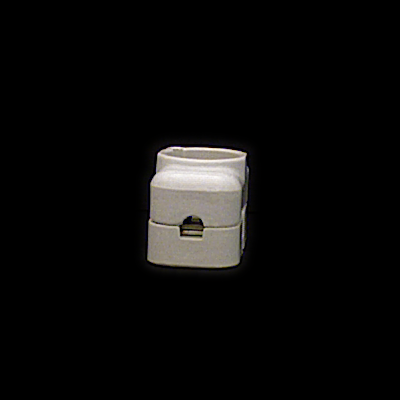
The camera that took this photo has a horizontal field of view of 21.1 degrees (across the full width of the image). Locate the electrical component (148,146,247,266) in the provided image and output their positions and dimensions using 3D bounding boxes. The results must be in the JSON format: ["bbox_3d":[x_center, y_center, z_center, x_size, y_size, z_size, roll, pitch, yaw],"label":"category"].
[{"bbox_3d":[0.000,0.000,0.651,0.053,0.060,0.094,3,11,5],"label":"electrical component"}]
